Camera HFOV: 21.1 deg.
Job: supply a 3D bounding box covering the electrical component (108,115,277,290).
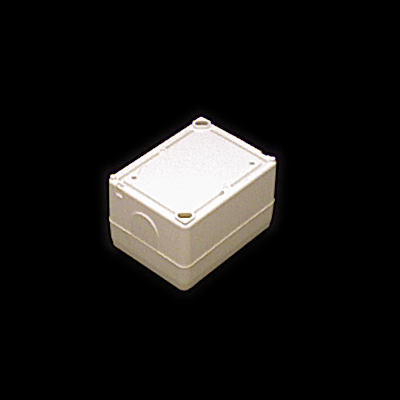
[{"bbox_3d":[0.000,0.000,0.631,0.061,0.061,0.096,31,49,29],"label":"electrical component"}]
